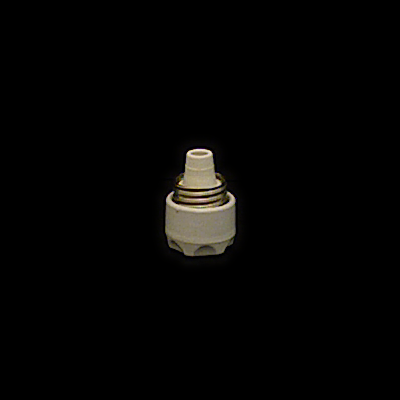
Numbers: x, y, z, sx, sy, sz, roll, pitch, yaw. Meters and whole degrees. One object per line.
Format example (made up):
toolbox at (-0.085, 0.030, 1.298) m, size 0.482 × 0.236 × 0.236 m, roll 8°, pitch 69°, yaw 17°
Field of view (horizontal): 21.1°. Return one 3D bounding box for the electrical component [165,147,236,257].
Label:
electrical component at (0.000, 0.000, 0.646) m, size 0.043 × 0.063 × 0.043 m, roll 0°, pitch 22°, yaw 1°
